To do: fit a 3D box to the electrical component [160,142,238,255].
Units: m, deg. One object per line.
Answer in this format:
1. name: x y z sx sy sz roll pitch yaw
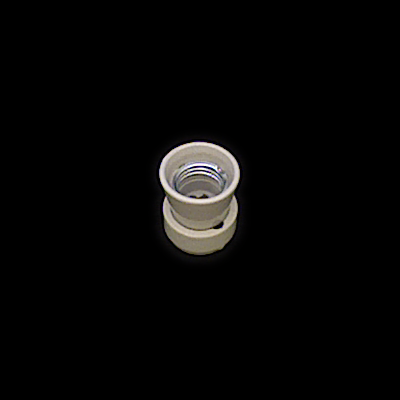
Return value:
1. electrical component: 0.000 0.000 0.628 0.045 0.044 0.055 0 -38 1
